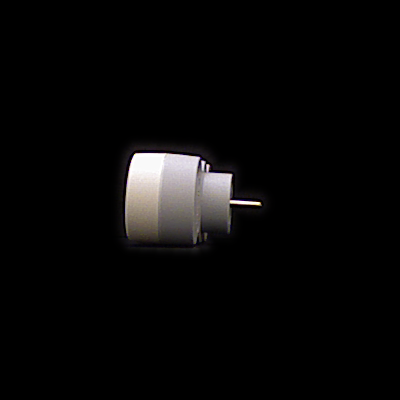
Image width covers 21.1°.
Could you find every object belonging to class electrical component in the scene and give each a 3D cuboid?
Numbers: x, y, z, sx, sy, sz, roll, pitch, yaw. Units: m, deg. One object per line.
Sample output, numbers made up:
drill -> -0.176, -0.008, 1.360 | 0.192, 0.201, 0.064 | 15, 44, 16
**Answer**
electrical component -> 0.000, 0.000, 0.653 | 0.074, 0.052, 0.138 | 3, -1, 4
